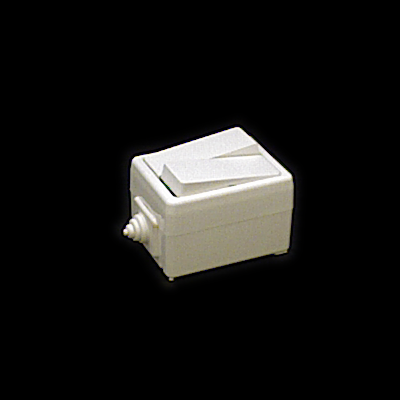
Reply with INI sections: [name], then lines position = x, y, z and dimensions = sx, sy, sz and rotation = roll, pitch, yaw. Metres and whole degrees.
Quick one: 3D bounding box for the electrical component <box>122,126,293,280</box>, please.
[electrical component]
position = 0.000, 0.000, 0.633
dimensions = 0.096, 0.061, 0.061
rotation = -12, 34, -21
